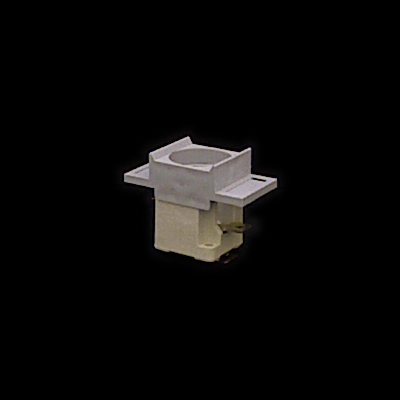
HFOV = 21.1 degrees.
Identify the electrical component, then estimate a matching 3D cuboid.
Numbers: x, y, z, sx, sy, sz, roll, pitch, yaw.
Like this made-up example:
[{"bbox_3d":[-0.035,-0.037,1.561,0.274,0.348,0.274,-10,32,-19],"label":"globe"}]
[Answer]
[{"bbox_3d":[0.000,0.000,0.637,0.080,0.064,0.042,13,23,29],"label":"electrical component"}]
